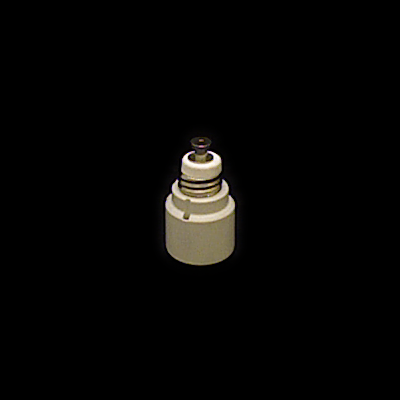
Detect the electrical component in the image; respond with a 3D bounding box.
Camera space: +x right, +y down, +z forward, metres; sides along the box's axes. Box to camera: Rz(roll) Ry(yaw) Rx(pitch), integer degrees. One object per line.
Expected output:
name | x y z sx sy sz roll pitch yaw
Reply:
electrical component | 0.000 0.000 0.631 0.040 0.079 0.039 1 32 0
